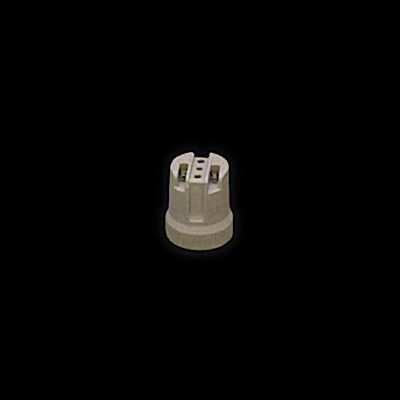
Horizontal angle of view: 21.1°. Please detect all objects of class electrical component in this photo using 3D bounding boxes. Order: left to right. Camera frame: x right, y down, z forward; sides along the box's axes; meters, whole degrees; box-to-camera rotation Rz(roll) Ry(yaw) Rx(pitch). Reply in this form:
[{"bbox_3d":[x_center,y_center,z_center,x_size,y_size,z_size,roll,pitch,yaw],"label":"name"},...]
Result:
[{"bbox_3d":[0.000,0.000,0.637,0.040,0.046,0.040,0,31,0],"label":"electrical component"}]
